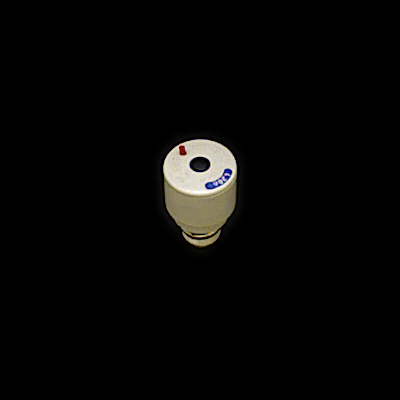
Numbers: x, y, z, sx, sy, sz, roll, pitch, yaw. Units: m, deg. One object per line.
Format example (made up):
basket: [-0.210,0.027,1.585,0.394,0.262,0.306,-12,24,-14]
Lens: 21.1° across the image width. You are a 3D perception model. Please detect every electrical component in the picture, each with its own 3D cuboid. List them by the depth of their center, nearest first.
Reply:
electrical component: [0.000,0.000,0.622,0.040,0.040,0.079,0,-38,0]
